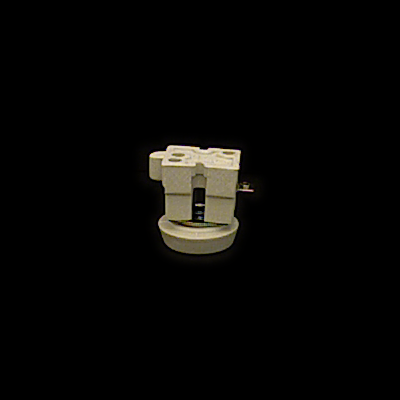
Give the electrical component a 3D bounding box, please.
[{"bbox_3d":[0.000,0.000,0.646,0.066,0.056,0.048,3,21,3],"label":"electrical component"}]
